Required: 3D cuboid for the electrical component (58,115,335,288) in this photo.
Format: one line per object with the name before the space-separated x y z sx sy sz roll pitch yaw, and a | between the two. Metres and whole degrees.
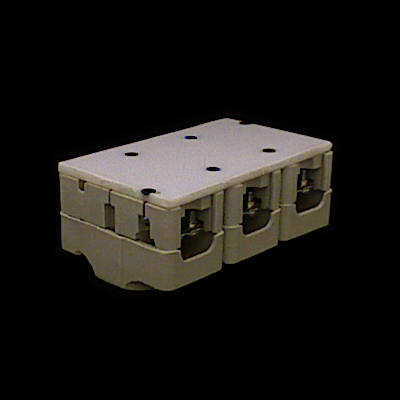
electrical component | 0.000 0.000 0.649 0.088 0.063 0.149 19 26 39
